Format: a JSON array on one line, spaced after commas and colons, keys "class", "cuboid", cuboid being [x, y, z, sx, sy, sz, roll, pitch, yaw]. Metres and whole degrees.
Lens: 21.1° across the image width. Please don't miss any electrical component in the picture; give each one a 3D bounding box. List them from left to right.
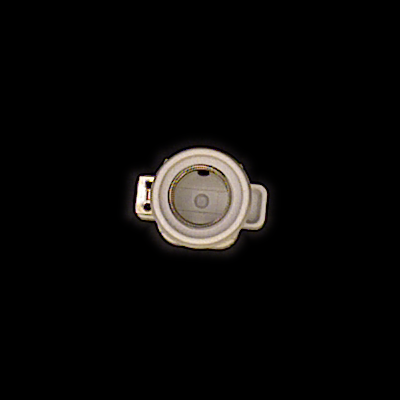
[{"class": "electrical component", "cuboid": [0.000, 0.000, 0.630, 0.078, 0.058, 0.056, 5, -6, 1]}]
